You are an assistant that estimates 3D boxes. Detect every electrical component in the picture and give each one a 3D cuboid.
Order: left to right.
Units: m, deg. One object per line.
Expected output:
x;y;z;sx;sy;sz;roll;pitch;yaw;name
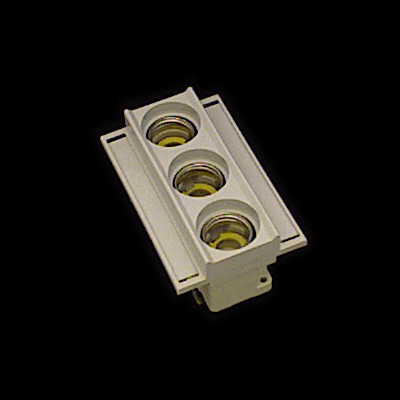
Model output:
0.000;0.000;0.638;0.079;0.120;0.063;-20;-34;-13;electrical component
